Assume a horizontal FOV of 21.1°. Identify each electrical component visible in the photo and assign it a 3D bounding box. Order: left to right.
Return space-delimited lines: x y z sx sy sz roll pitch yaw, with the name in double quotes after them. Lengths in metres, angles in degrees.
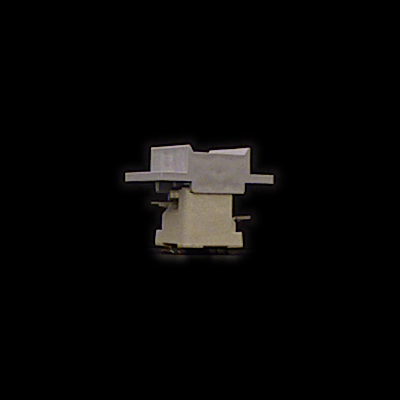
0.000 0.000 0.652 0.081 0.064 0.042 1 0 -33 "electrical component"
